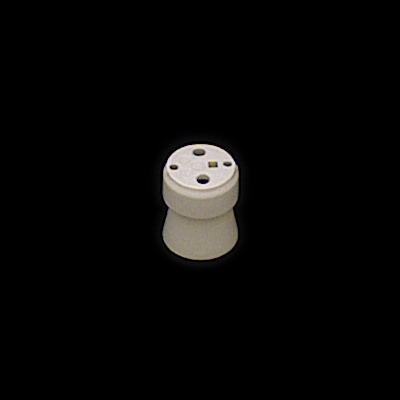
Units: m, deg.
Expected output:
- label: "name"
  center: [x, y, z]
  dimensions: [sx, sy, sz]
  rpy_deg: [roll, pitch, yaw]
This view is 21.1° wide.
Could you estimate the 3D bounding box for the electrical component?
- label: "electrical component"
  center: [0.000, 0.000, 0.631]
  dimensions: [0.045, 0.055, 0.044]
  rpy_deg: [0, 43, 0]
